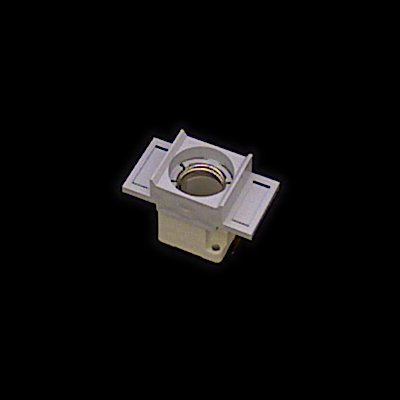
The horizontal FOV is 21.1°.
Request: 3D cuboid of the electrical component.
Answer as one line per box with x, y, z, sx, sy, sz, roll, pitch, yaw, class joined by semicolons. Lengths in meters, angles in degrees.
0.000;0.000;0.626;0.080;0.042;0.064;21;-34;14;electrical component
